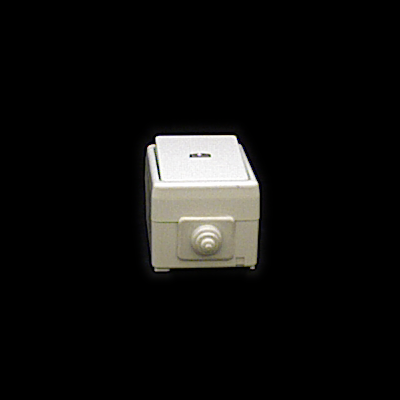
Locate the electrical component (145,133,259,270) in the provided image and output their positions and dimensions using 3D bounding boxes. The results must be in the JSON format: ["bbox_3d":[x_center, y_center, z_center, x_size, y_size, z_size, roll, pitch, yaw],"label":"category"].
[{"bbox_3d":[0.000,0.000,0.636,0.062,0.061,0.095,-1,21,-5],"label":"electrical component"}]
